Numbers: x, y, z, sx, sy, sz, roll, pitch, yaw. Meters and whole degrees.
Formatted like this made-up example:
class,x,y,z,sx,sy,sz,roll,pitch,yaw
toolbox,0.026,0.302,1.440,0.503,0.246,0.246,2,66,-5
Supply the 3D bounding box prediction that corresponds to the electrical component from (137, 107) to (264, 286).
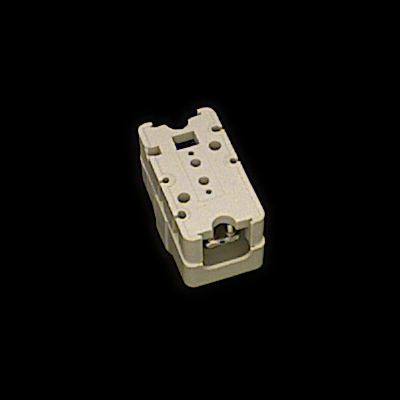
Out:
class,x,y,z,sx,sy,sz,roll,pitch,yaw
electrical component,0.000,0.000,0.637,0.050,0.089,0.056,-16,-35,-11
